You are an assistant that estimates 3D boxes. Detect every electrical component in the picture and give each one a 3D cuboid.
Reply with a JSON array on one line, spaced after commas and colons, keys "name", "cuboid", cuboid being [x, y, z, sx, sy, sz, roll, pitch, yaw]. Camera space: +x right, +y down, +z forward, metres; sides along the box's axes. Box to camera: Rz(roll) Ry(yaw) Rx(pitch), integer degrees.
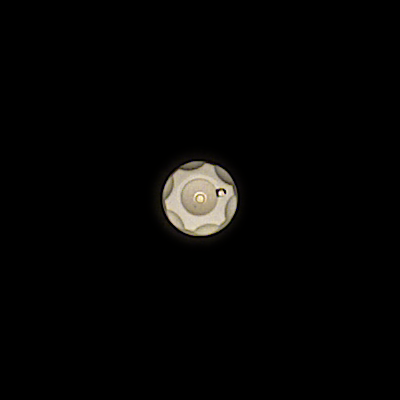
[{"name": "electrical component", "cuboid": [0.000, 0.000, 0.635, 0.043, 0.043, 0.062, 0, -5, 2]}]
